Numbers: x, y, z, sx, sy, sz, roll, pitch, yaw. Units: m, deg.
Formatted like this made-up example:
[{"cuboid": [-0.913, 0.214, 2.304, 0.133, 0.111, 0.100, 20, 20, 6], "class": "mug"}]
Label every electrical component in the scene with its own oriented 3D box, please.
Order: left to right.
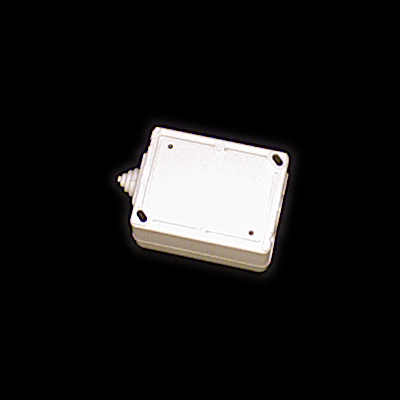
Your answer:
[{"cuboid": [0.000, 0.000, 0.629, 0.096, 0.062, 0.060, 12, -17, 4], "class": "electrical component"}]
